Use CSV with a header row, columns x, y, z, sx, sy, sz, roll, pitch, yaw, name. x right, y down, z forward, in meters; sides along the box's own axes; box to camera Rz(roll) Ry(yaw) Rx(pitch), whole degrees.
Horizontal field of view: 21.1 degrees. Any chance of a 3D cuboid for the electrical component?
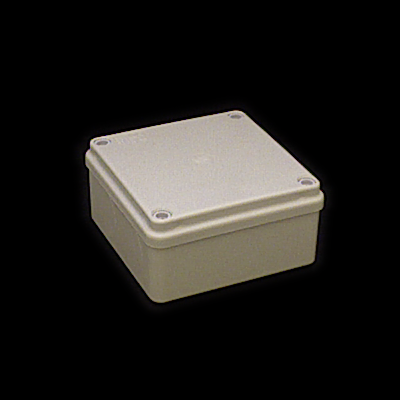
x,y,z,sx,sy,sz,roll,pitch,yaw,name
0.000,0.000,0.635,0.109,0.057,0.107,-13,35,-22,electrical component
